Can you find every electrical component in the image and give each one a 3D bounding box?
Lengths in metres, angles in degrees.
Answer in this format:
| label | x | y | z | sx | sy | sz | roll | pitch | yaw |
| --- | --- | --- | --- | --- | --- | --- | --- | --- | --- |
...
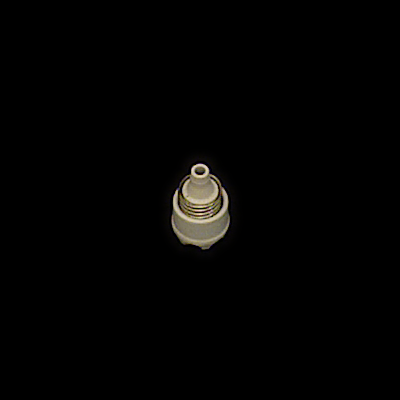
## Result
| label | x | y | z | sx | sy | sz | roll | pitch | yaw |
| --- | --- | --- | --- | --- | --- | --- | --- | --- | --- |
| electrical component | 0.000 | 0.000 | 0.640 | 0.035 | 0.035 | 0.062 | 0 | -36 | 1 |
